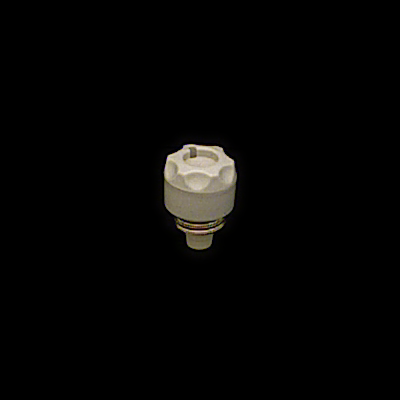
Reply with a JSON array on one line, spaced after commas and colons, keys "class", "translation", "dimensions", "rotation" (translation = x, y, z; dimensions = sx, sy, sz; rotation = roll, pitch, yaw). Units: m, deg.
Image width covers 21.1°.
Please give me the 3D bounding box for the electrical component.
[{"class": "electrical component", "translation": [0.000, 0.000, 0.641], "dimensions": [0.043, 0.063, 0.043], "rotation": [1, 33, 0]}]
